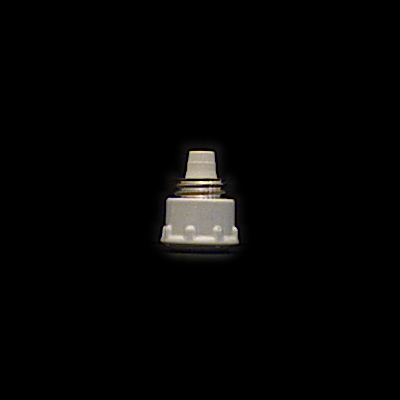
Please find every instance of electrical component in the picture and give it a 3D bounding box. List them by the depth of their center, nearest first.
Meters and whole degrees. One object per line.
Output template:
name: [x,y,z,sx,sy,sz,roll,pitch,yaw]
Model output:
electrical component: [0.000,0.000,0.658,0.048,0.062,0.048,2,1,1]
